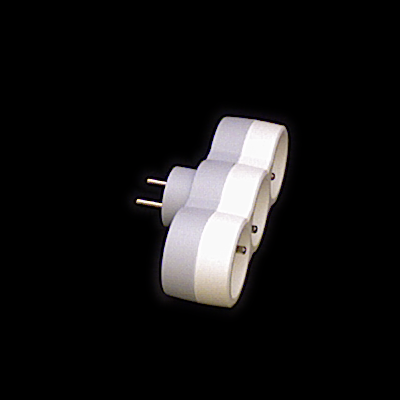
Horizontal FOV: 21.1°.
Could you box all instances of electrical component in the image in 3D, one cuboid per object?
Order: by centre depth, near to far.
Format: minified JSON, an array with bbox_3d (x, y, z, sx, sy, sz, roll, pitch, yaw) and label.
[{"bbox_3d":[0.000,0.000,0.631,0.073,0.052,0.137,11,44,13],"label":"electrical component"}]
